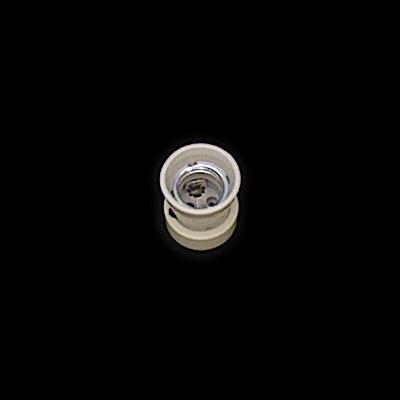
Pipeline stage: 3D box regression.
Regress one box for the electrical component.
[{"bbox_3d":[0.000,0.000,0.628,0.045,0.045,0.055,0,-28,0],"label":"electrical component"}]
